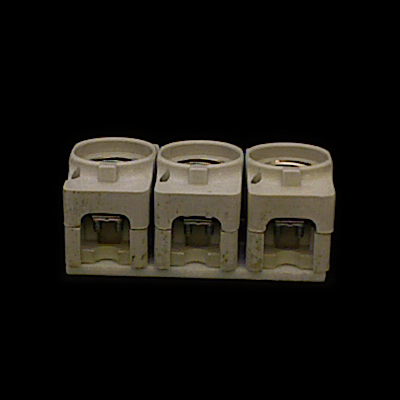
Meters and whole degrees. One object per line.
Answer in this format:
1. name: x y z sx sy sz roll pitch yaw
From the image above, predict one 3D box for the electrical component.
1. electrical component: 0.000 0.000 0.644 0.150 0.063 0.088 1 21 1
